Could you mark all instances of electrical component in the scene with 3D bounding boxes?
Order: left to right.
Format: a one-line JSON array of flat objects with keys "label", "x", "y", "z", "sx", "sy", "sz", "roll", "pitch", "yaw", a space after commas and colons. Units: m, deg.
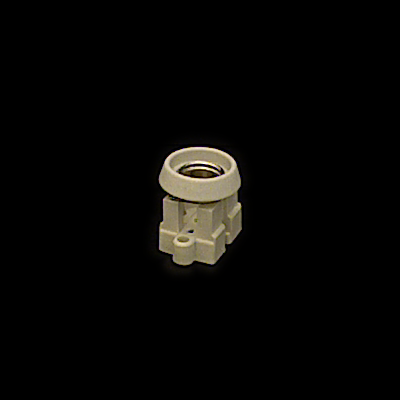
[{"label": "electrical component", "x": 0.000, "y": 0.000, "z": 0.644, "sx": 0.048, "sy": 0.056, "sz": 0.066, "roll": 15, "pitch": 35, "yaw": 18}]
